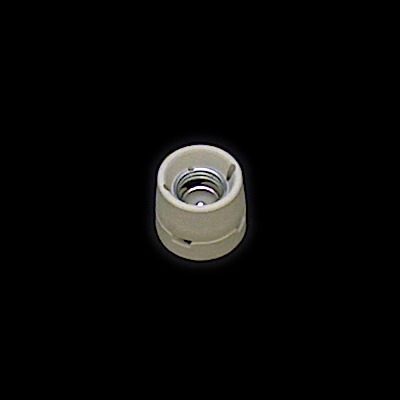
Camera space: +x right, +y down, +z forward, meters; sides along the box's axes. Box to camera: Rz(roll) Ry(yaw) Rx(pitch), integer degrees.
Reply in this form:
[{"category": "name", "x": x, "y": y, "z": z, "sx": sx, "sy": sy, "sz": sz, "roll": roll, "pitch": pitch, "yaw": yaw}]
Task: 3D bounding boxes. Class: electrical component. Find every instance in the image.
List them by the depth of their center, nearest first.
[{"category": "electrical component", "x": 0.000, "y": 0.000, "z": 0.633, "sx": 0.055, "sy": 0.055, "sz": 0.047, "roll": 0, "pitch": -37, "yaw": 1}]
